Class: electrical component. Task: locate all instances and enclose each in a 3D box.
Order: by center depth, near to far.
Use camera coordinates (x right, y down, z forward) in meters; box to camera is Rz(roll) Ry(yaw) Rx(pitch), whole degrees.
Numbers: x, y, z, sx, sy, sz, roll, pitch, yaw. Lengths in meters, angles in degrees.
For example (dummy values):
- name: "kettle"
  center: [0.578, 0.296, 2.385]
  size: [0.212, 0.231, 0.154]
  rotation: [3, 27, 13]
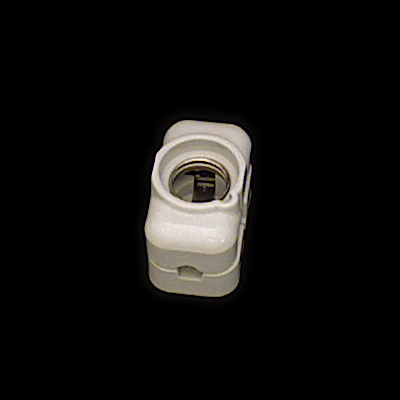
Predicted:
- name: "electrical component"
  center: [0.000, 0.000, 0.635]
  size: [0.053, 0.095, 0.059]
  rotation: [6, -36, 5]
